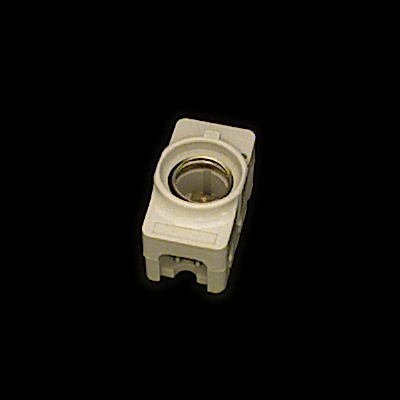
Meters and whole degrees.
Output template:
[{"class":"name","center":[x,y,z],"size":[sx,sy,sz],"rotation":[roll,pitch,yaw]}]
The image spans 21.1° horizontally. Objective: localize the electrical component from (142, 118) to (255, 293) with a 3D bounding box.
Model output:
[{"class":"electrical component","center":[0.000,0.000,0.637],"size":[0.050,0.089,0.056],"rotation":[10,-36,7]}]
